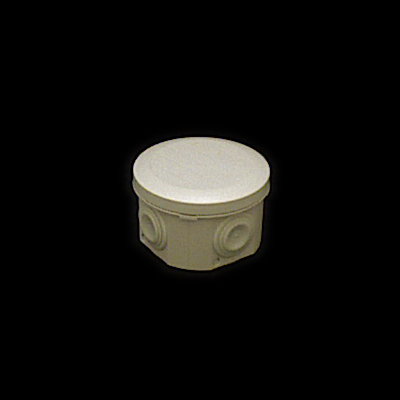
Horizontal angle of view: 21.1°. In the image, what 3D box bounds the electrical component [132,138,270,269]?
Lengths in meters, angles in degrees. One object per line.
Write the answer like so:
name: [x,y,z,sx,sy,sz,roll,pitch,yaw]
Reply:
electrical component: [0.000,0.000,0.635,0.080,0.051,0.079,1,31,0]
